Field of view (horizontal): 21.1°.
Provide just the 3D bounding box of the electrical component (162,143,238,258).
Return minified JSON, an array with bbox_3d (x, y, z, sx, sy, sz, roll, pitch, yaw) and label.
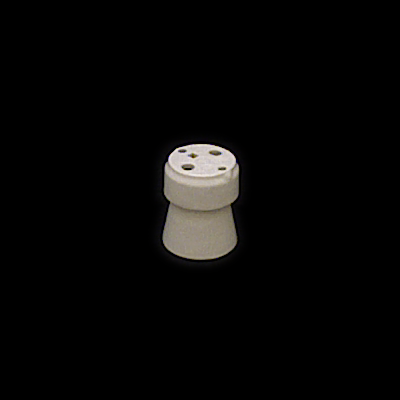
[{"bbox_3d":[0.000,0.000,0.636,0.045,0.056,0.044,1,32,-1],"label":"electrical component"}]
